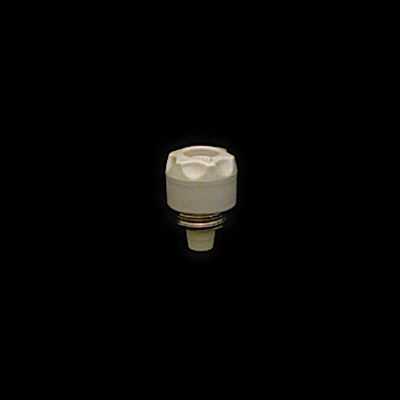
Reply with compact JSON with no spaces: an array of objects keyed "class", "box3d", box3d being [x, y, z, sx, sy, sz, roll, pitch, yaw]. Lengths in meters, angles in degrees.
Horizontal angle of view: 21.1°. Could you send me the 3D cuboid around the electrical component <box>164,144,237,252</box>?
[{"class":"electrical component","box3d":[0.000,0.000,0.646,0.043,0.063,0.043,1,21,0]}]
